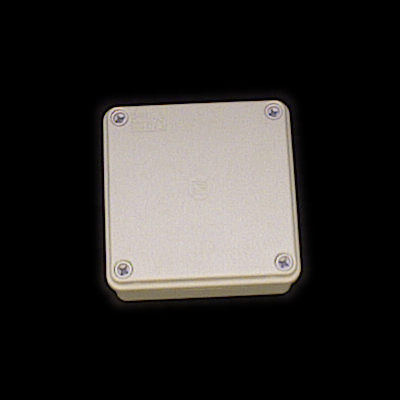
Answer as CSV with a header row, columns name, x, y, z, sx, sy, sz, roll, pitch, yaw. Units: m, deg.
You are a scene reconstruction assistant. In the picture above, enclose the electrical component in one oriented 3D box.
name,x,y,z,sx,sy,sz,roll,pitch,yaw
electrical component,0.000,0.000,0.629,0.109,0.109,0.056,-3,-16,-1
